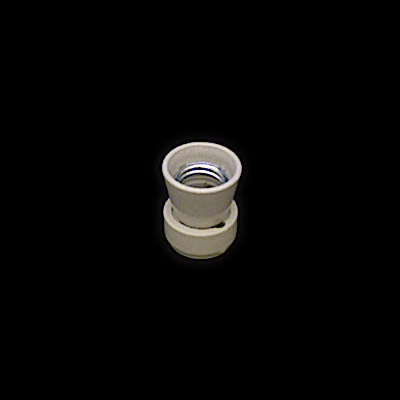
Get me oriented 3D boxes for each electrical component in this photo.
[{"bbox_3d":[0.000,0.000,0.633,0.045,0.056,0.044,1,42,-1],"label":"electrical component"}]
